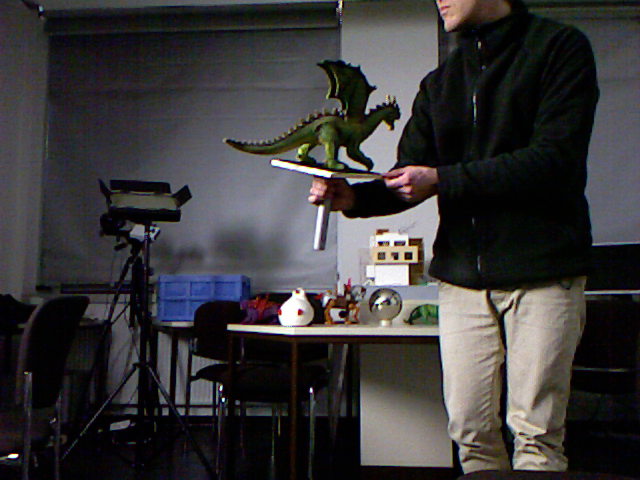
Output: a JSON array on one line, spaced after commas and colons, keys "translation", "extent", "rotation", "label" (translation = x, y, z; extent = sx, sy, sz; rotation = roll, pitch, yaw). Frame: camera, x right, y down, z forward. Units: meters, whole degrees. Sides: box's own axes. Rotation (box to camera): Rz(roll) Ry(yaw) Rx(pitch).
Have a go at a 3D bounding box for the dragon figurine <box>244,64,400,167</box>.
[{"translation": [0.030, -0.299, 1.240], "extent": [0.411, 0.240, 0.124], "rotation": [1, 19, -31], "label": "dragon figurine"}]
